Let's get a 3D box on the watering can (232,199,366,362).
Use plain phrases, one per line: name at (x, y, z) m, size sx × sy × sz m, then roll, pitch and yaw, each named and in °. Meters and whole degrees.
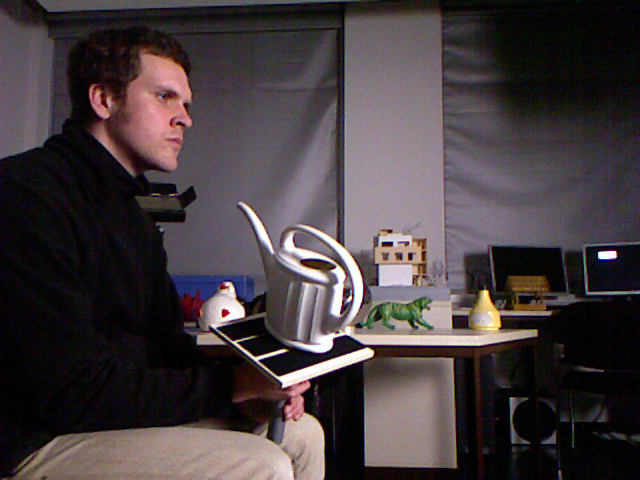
watering can at (-0.054, 0.066, 0.888) m, size 0.105 × 0.221 × 0.352 m, roll -8°, pitch 25°, yaw -41°
